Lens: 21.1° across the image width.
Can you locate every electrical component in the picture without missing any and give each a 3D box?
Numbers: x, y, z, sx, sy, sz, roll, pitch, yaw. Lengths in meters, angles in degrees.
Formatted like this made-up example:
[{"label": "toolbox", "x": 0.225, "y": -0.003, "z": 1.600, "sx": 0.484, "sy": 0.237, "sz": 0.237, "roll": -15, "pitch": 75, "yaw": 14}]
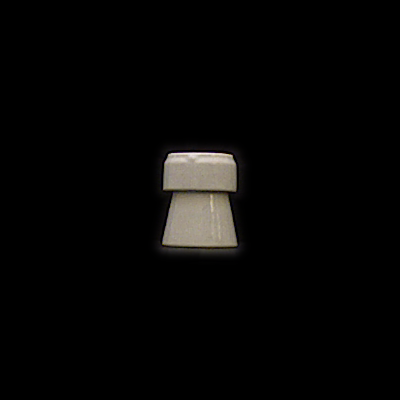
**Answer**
[{"label": "electrical component", "x": 0.000, "y": 0.000, "z": 0.650, "sx": 0.045, "sy": 0.055, "sz": 0.045, "roll": 1, "pitch": 0, "yaw": 0}]
